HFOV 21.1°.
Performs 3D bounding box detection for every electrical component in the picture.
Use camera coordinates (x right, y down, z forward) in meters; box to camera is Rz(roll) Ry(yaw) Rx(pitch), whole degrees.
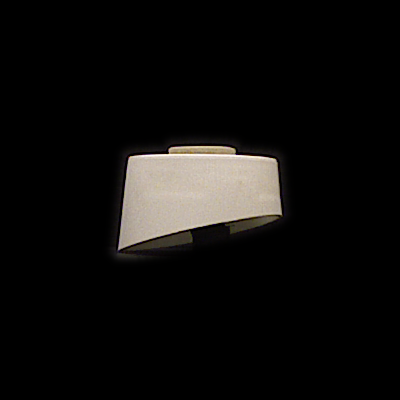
[{"bbox_3d":[0.000,0.000,0.650,0.099,0.064,0.099,1,0,0],"label":"electrical component"}]
